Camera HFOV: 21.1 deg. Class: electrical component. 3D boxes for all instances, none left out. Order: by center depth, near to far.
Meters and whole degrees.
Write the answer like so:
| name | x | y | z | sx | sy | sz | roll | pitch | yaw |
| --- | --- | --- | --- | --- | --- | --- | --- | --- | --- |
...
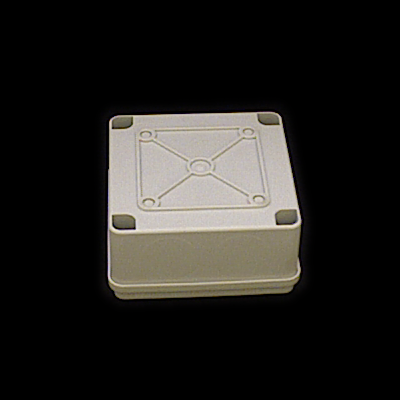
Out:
| name | x | y | z | sx | sy | sz | roll | pitch | yaw |
| --- | --- | --- | --- | --- | --- | --- | --- | --- | --- |
| electrical component | 0.000 | 0.000 | 0.631 | 0.109 | 0.057 | 0.107 | -2 | 42 | -3 |
